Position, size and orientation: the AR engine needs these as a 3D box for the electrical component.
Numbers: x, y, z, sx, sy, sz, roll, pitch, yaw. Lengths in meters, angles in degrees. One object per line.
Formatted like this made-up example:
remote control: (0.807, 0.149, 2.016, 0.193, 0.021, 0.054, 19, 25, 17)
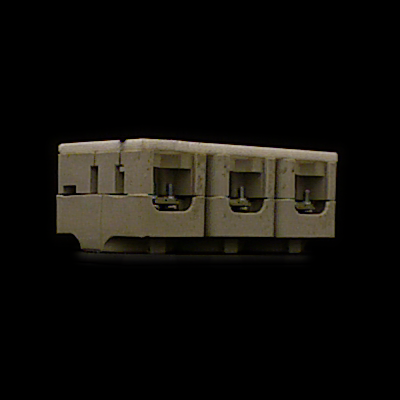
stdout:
electrical component: (0.000, 0.000, 0.653, 0.150, 0.062, 0.089, 2, -1, -38)
